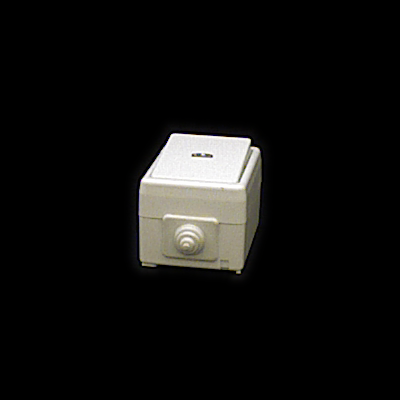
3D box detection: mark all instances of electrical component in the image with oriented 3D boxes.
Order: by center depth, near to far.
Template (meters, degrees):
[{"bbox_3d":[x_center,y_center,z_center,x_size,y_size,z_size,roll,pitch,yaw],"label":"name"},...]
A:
[{"bbox_3d":[0.000,0.000,0.636,0.061,0.061,0.095,4,21,9],"label":"electrical component"}]
